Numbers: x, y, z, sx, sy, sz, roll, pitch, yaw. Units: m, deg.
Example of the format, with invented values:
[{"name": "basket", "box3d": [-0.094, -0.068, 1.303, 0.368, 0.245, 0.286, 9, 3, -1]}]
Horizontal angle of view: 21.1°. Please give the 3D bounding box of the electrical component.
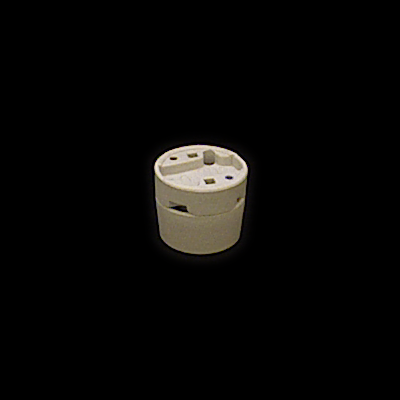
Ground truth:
[{"name": "electrical component", "box3d": [0.000, 0.000, 0.640, 0.055, 0.047, 0.055, 1, 32, 0]}]
